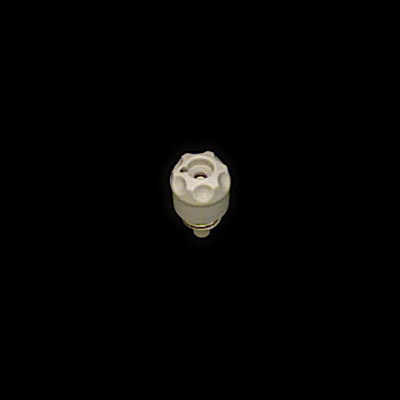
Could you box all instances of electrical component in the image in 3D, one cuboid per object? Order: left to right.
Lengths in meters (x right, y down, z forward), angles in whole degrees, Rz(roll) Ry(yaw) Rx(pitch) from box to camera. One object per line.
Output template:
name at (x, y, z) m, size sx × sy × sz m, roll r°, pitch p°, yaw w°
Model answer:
electrical component at (0.000, 0.000, 0.635) m, size 0.035 × 0.035 × 0.062 m, roll 0°, pitch -37°, yaw 0°
